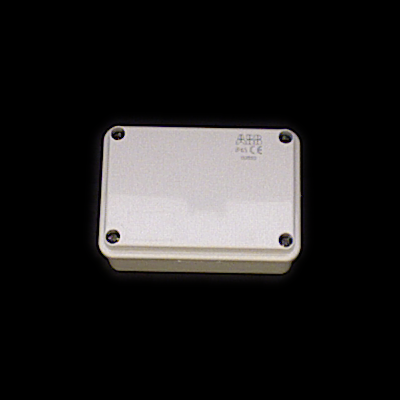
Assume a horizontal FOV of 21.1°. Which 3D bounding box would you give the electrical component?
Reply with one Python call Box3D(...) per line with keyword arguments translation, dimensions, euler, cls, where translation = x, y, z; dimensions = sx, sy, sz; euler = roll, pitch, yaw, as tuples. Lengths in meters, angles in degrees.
Box3D(translation=(0.000, 0.000, 0.628), dimensions=(0.113, 0.078, 0.057), euler=(1, -17, 1), cls="electrical component")
